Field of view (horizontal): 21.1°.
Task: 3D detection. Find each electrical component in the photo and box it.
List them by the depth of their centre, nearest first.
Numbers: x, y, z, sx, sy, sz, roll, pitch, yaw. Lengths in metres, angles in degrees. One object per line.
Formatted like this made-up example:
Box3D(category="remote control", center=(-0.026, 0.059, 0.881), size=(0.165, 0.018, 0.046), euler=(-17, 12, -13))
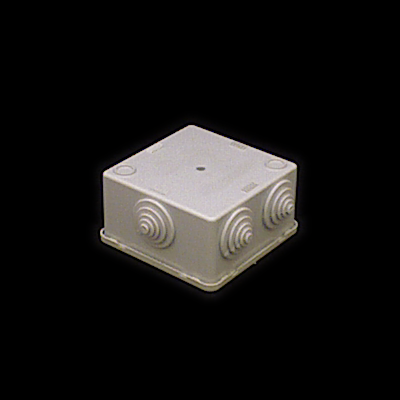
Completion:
Box3D(category="electrical component", center=(0.000, 0.000, 0.638), size=(0.099, 0.049, 0.099), euler=(23, 38, 32))
